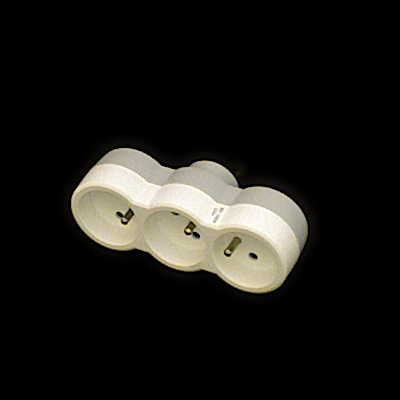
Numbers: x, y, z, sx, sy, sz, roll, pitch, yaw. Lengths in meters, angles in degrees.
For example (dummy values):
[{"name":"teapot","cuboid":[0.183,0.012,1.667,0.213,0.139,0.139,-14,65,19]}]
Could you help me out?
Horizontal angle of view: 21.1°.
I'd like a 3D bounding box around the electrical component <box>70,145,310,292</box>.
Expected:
[{"name":"electrical component","cuboid":[0.000,0.000,0.643,0.137,0.053,0.073,17,43,16]}]
